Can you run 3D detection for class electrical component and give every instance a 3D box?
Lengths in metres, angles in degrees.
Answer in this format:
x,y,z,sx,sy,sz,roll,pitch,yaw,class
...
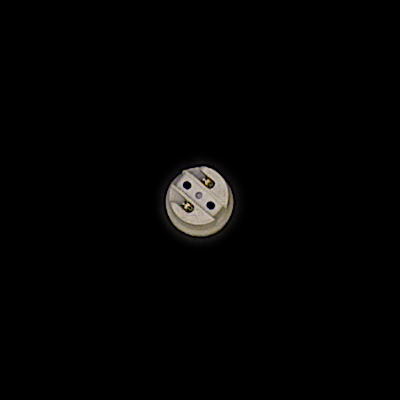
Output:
x,y,z,sx,sy,sz,roll,pitch,yaw,class
0.000,0.000,0.634,0.040,0.040,0.046,0,-6,0,electrical component
